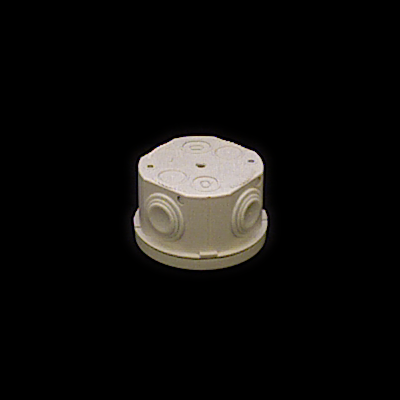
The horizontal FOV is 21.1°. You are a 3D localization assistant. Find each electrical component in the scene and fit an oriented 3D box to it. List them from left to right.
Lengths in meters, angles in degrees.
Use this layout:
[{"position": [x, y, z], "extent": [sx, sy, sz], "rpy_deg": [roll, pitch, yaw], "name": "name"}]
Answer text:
[{"position": [0.000, 0.000, 0.637], "extent": [0.080, 0.051, 0.079], "rpy_deg": [0, 31, 0], "name": "electrical component"}]
